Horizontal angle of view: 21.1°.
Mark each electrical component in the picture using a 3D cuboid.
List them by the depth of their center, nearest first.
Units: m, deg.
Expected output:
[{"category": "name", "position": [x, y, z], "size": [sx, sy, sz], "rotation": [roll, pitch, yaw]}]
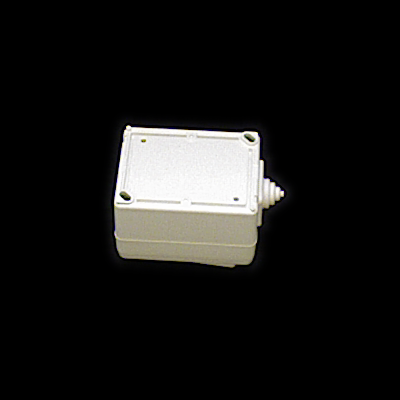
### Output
[{"category": "electrical component", "position": [0.000, 0.000, 0.629], "size": [0.096, 0.061, 0.061], "rotation": [3, -39, 2]}]
